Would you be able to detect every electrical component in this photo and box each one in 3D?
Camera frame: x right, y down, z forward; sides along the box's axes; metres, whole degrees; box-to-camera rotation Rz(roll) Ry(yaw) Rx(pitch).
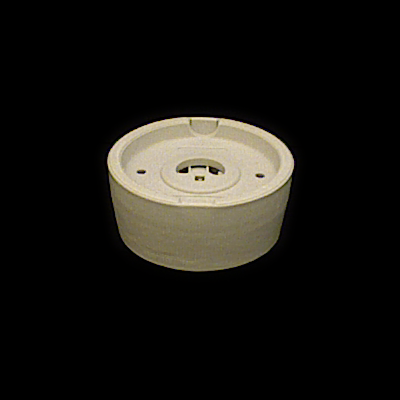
[{"bbox_3d":[0.000,0.000,0.638,0.108,0.061,0.106,1,31,0],"label":"electrical component"}]
